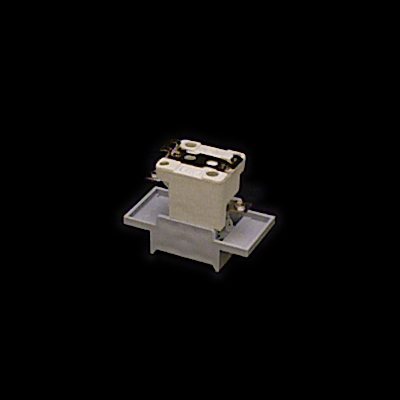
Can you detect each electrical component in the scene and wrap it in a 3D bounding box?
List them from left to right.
[{"bbox_3d":[0.000,0.000,0.634,0.080,0.064,0.042,14,34,21],"label":"electrical component"}]
